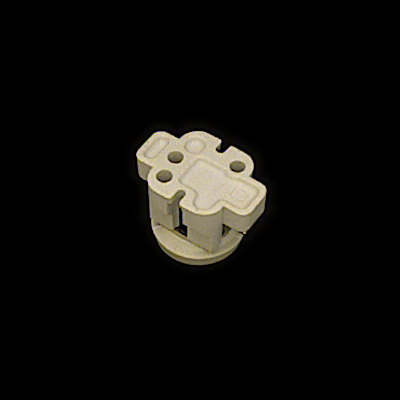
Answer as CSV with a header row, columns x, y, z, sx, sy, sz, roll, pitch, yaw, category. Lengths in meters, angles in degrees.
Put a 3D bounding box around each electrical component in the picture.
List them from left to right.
x,y,z,sx,sy,sz,roll,pitch,yaw,category
0.000,0.000,0.637,0.078,0.058,0.057,29,-33,18,electrical component
